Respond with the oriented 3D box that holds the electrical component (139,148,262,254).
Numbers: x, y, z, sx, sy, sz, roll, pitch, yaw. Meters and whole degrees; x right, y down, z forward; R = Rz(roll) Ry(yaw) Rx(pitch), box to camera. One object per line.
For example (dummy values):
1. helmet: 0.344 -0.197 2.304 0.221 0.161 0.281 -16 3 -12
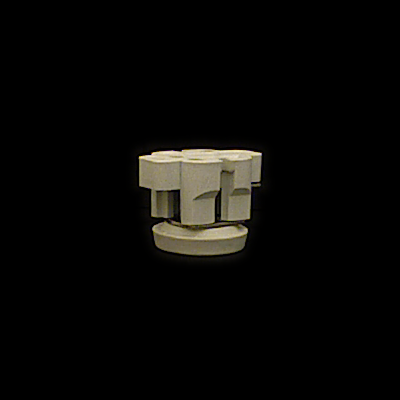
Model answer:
1. electrical component: 0.000 0.000 0.653 0.079 0.057 0.057 -6 12 -37
